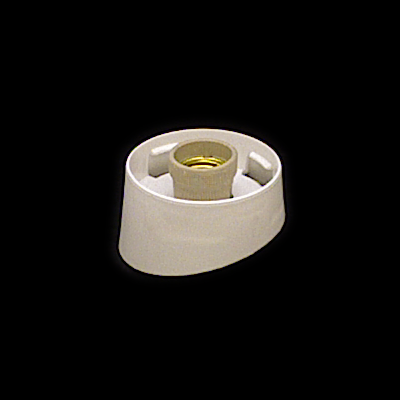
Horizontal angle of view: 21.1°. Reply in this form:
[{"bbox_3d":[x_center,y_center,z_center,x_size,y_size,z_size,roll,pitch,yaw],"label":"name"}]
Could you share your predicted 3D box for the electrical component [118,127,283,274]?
[{"bbox_3d":[0.000,0.000,0.634,0.099,0.065,0.097,0,31,0],"label":"electrical component"}]
